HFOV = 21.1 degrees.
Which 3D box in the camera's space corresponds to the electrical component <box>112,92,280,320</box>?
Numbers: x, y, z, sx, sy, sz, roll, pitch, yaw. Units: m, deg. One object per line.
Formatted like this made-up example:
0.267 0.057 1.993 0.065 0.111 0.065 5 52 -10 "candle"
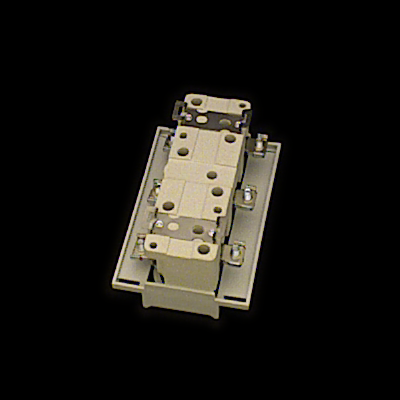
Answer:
0.000 0.000 0.635 0.078 0.121 0.063 8 -37 7 "electrical component"
